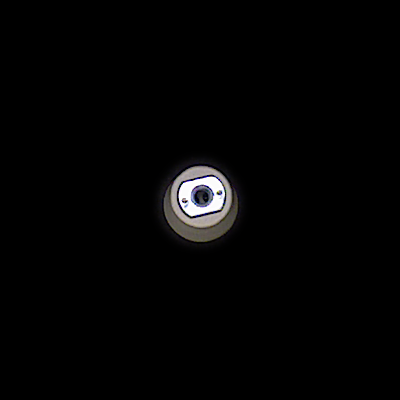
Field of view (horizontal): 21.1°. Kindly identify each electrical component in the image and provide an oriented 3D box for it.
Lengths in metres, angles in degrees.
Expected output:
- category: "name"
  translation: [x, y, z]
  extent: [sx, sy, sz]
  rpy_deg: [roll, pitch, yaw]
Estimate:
- category: "electrical component"
  translation: [0.000, 0.000, 0.626]
  extent: [0.044, 0.044, 0.065]
  rpy_deg: [0, -5, 0]
